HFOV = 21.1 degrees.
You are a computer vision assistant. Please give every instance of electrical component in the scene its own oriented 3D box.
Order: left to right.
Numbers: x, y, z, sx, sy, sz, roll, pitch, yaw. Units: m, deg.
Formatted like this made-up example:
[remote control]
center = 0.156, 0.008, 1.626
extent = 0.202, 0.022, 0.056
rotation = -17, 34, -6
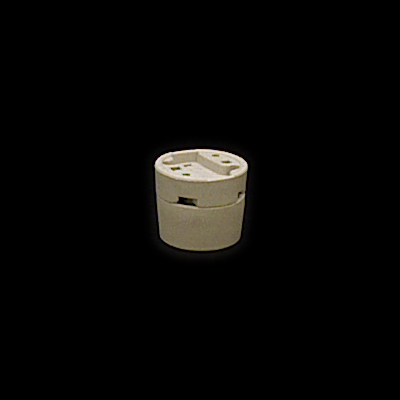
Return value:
[electrical component]
center = 0.000, 0.000, 0.641
extent = 0.055, 0.047, 0.055
rotation = 1, 21, 0
